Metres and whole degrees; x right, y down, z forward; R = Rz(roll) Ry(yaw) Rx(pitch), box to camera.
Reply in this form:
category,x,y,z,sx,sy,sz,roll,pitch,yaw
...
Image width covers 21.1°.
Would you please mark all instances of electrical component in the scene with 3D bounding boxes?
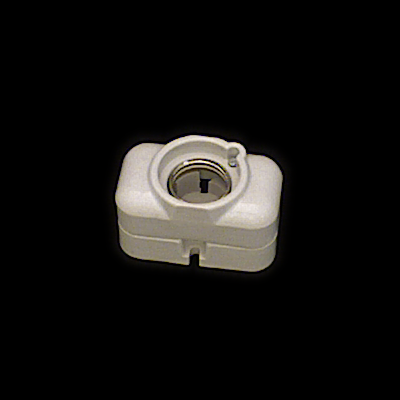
category,x,y,z,sx,sy,sz,roll,pitch,yaw
electrical component,0.000,0.000,0.636,0.095,0.053,0.059,6,-36,4
